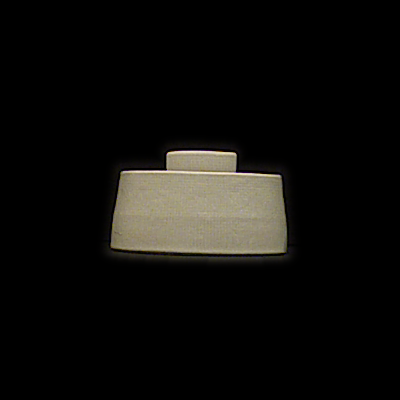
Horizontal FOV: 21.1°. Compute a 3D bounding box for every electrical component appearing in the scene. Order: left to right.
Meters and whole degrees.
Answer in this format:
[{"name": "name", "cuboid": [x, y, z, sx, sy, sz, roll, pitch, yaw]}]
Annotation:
[{"name": "electrical component", "cuboid": [0.000, 0.000, 0.657, 0.108, 0.060, 0.108, 1, 1, 0]}]
